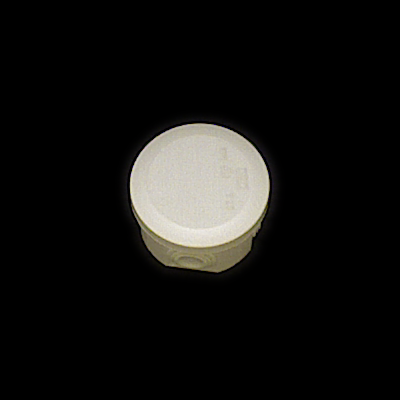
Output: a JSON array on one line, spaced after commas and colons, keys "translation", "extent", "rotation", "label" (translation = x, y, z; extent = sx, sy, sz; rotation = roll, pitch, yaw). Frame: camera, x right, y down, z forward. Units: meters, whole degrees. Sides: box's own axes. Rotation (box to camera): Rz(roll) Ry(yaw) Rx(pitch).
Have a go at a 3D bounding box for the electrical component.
[{"translation": [0.000, 0.000, 0.629], "extent": [0.080, 0.080, 0.050], "rotation": [0, -27, 0], "label": "electrical component"}]
